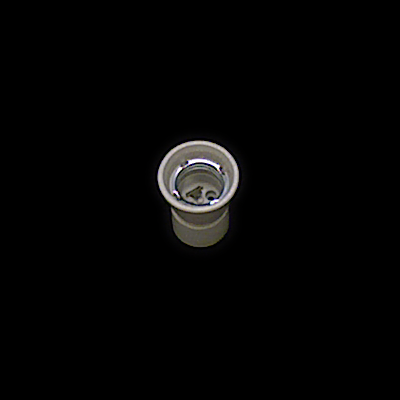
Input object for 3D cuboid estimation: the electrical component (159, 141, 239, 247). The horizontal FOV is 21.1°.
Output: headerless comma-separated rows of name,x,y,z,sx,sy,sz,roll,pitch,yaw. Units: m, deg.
electrical component,0.000,0.000,0.624,0.044,0.044,0.065,0,-26,1
